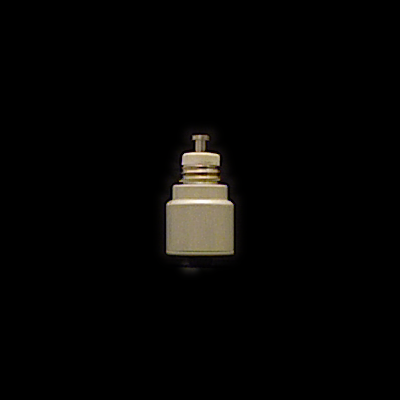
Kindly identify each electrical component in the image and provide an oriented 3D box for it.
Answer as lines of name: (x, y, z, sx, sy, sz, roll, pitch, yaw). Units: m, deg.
electrical component: (0.000, 0.000, 0.650, 0.040, 0.078, 0.040, 1, 2, 0)
